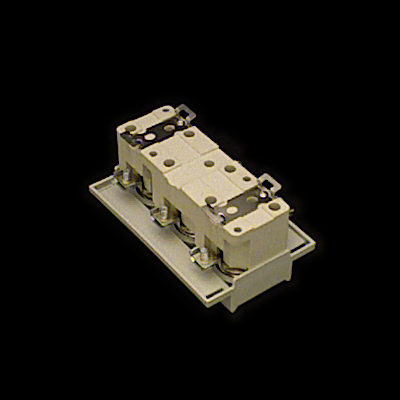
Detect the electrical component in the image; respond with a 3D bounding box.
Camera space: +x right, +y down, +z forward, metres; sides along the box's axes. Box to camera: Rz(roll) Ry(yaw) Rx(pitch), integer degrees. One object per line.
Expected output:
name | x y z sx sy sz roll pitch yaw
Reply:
electrical component | 0.000 0.000 0.636 0.079 0.063 0.120 -27 49 -26
